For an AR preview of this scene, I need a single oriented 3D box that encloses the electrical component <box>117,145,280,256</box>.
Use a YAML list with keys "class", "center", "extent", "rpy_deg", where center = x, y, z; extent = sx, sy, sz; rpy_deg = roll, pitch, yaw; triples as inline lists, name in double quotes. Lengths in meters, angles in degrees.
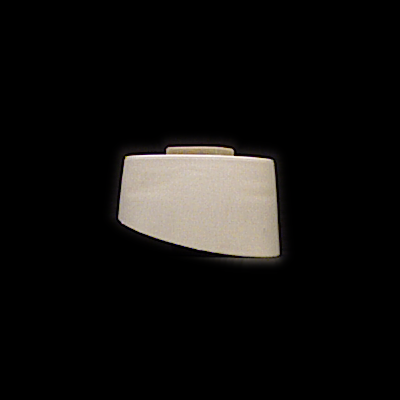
- class: "electrical component"
  center: [0.000, 0.000, 0.649]
  extent: [0.099, 0.064, 0.099]
  rpy_deg: [2, 0, 0]
